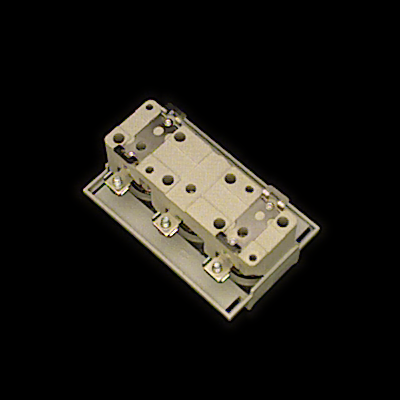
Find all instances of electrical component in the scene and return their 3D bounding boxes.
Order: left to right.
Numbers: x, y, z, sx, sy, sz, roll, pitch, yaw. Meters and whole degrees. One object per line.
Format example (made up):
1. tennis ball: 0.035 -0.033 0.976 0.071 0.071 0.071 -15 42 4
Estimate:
1. electrical component: 0.000 0.000 0.635 0.121 0.079 0.063 40 -21 17
